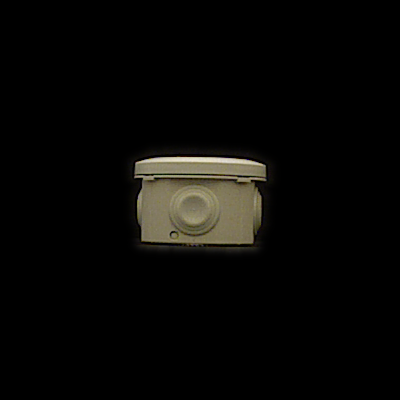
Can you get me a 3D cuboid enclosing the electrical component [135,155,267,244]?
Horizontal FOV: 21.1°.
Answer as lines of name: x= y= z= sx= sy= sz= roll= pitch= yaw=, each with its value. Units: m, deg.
electrical component: x=0.000 y=0.000 z=0.652 sx=0.080 sy=0.051 sz=0.080 roll=1 pitch=0 yaw=0
